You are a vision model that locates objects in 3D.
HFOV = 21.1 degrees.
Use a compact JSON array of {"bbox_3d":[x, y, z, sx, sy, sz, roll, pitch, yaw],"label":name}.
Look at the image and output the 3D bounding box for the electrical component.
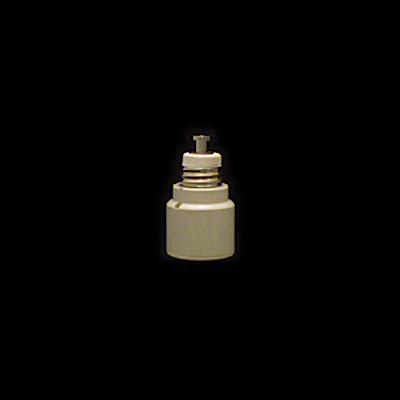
[{"bbox_3d":[0.000,0.000,0.643,0.040,0.079,0.040,1,12,0],"label":"electrical component"}]
